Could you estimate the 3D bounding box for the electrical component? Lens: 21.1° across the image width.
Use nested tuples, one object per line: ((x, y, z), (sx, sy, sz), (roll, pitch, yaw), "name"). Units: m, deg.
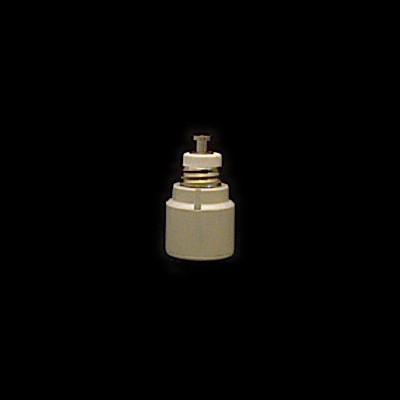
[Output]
((0.000, 0.000, 0.644), (0.040, 0.079, 0.040), (2, 12, 0), "electrical component")
